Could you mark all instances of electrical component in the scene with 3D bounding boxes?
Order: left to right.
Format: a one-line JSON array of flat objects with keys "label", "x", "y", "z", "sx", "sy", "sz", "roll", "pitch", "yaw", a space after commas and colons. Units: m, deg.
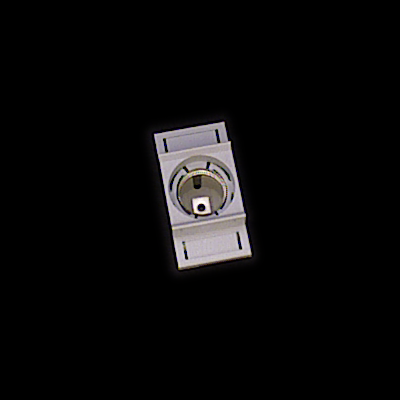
[{"label": "electrical component", "x": 0.000, "y": 0.000, "z": 0.623, "sx": 0.042, "sy": 0.081, "sz": 0.063, "roll": -9, "pitch": -17, "yaw": -4}]
